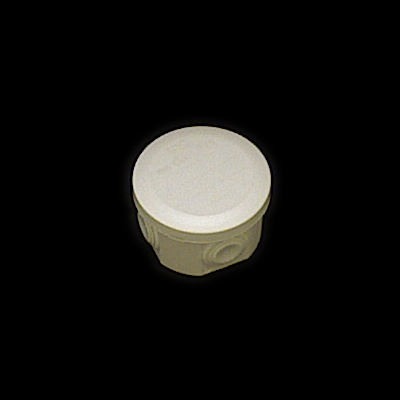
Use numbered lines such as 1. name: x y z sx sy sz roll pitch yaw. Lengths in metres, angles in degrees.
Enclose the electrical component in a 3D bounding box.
1. electrical component: 0.000 0.000 0.632 0.080 0.080 0.051 0 -38 -1
